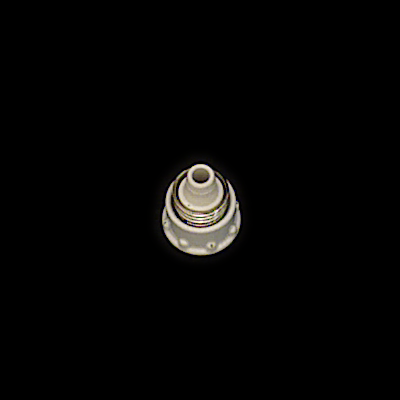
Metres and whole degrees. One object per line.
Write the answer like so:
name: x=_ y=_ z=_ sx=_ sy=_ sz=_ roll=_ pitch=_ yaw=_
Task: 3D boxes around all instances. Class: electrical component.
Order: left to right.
electrical component: x=0.000 y=0.000 z=0.634 sx=0.048 sy=0.048 sz=0.062 roll=0 pitch=-28 yaw=0
